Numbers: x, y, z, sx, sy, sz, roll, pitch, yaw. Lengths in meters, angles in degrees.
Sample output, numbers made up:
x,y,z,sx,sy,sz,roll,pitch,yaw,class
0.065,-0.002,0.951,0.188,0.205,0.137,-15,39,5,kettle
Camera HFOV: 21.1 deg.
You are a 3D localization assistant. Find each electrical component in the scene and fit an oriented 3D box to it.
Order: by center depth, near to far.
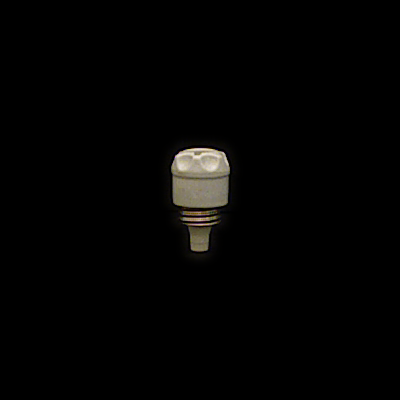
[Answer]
x,y,z,sx,sy,sz,roll,pitch,yaw,class
0.000,0.000,0.649,0.035,0.062,0.035,1,12,0,electrical component
